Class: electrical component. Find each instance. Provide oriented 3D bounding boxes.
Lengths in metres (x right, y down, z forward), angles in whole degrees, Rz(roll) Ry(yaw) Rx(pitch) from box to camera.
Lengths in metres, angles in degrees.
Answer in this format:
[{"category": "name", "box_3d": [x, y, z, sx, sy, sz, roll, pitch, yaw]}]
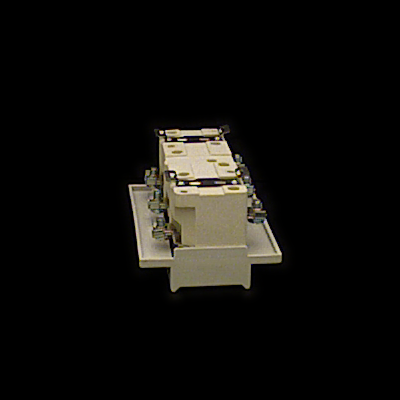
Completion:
[{"category": "electrical component", "box_3d": [0.000, 0.000, 0.644, 0.079, 0.064, 0.119, -2, 21, -7]}]
